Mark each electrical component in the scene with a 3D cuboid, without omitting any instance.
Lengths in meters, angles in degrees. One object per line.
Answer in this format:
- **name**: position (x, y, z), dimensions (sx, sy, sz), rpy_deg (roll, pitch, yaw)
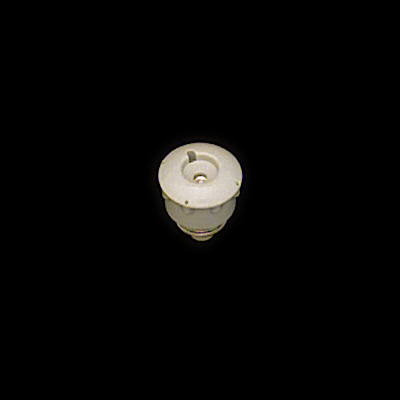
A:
- **electrical component**: position (0.000, 0.000, 0.634), dimensions (0.048, 0.048, 0.062), rpy_deg (0, -37, 0)
